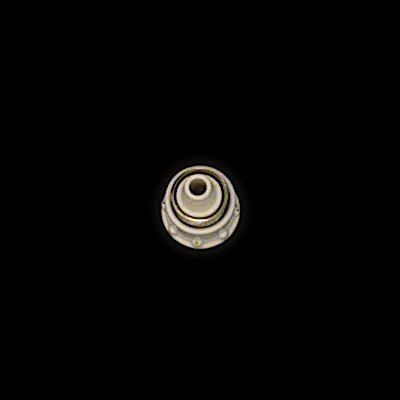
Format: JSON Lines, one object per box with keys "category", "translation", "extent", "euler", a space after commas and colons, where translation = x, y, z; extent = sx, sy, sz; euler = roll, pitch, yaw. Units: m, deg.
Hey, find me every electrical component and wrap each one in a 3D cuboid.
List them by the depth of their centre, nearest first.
{"category": "electrical component", "translation": [0.000, 0.000, 0.633], "extent": [0.048, 0.048, 0.061], "euler": [0, -15, 1]}
